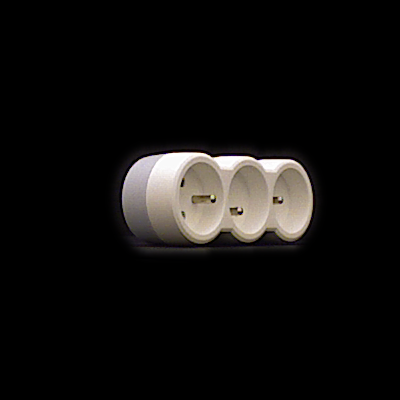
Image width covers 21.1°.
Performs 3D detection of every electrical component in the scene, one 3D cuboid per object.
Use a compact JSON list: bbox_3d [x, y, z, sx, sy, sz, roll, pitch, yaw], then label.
[{"bbox_3d":[0.000,0.000,0.648,0.073,0.052,0.138,-1,-1,39],"label":"electrical component"}]
